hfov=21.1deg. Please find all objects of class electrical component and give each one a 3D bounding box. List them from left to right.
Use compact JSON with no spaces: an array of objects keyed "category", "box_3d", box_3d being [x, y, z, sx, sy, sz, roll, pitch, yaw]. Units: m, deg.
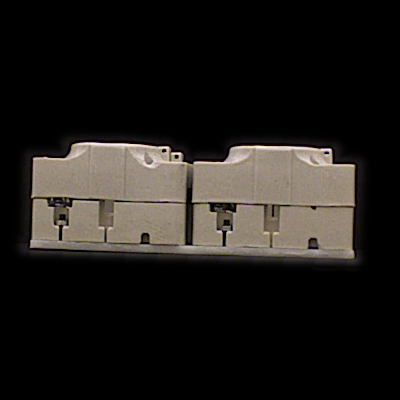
[{"category":"electrical component","box_3d":[0.000,0.000,0.651,0.186,0.060,0.105,2,0,7]}]
